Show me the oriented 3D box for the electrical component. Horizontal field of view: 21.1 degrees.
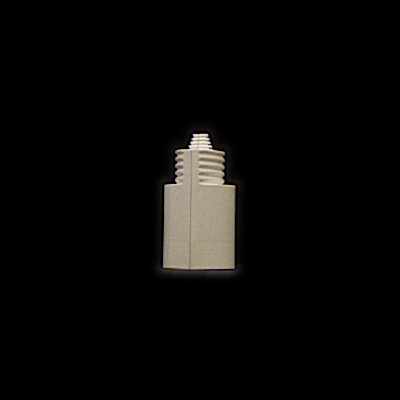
[{"bbox_3d":[0.000,0.000,0.650,0.043,0.081,0.043,1,1,0],"label":"electrical component"}]
